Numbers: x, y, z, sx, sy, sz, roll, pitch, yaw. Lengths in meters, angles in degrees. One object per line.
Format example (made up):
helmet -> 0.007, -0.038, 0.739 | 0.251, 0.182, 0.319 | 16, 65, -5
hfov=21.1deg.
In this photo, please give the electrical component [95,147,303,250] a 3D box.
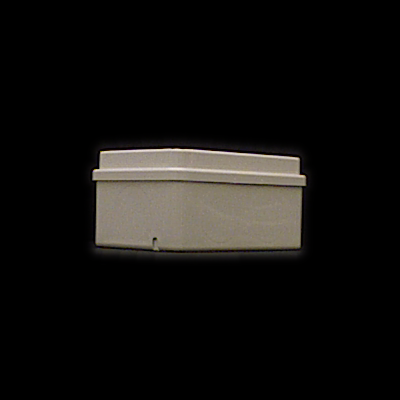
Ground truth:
electrical component -> 0.001, 0.000, 0.651 | 0.114, 0.057, 0.078 | 1, 0, -44
